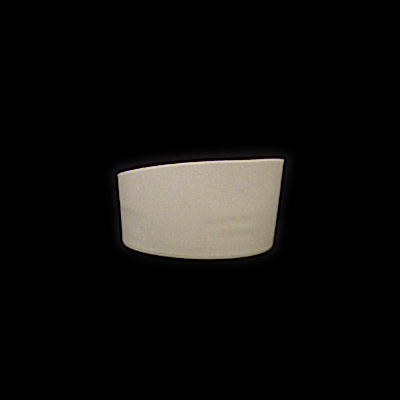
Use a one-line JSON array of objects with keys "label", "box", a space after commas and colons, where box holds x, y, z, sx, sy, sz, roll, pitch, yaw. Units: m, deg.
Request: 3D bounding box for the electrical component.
[{"label": "electrical component", "box": [0.000, 0.000, 0.643, 0.099, 0.064, 0.098, 2, 11, 0]}]
